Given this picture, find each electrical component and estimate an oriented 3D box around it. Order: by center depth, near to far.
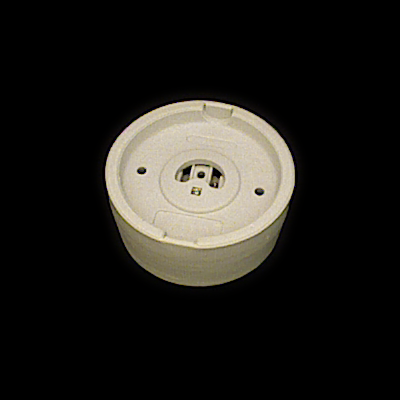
[{"bbox_3d":[0.000,0.000,0.633,0.108,0.107,0.060,0,-37,-1],"label":"electrical component"}]
